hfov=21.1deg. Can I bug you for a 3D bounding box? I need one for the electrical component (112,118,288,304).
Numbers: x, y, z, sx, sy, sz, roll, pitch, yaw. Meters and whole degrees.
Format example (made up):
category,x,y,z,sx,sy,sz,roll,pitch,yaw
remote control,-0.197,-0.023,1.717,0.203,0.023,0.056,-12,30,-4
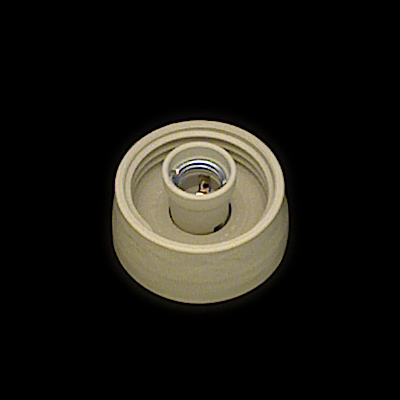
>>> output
category,x,y,z,sx,sy,sz,roll,pitch,yaw
electrical component,0.000,0.000,0.634,0.108,0.107,0.060,0,-37,-1
